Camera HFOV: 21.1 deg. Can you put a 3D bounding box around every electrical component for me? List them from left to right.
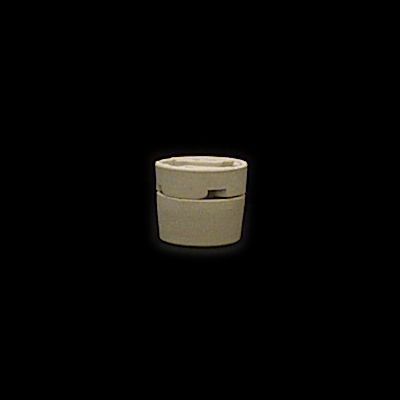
[{"bbox_3d":[0.000,0.000,0.645,0.055,0.047,0.055,2,11,0],"label":"electrical component"}]
